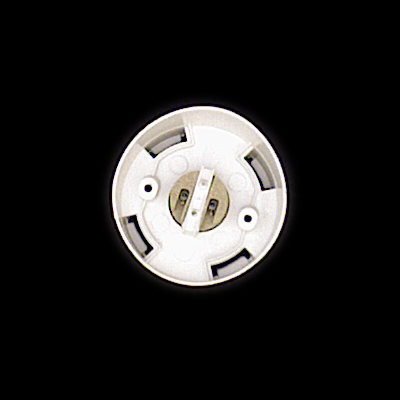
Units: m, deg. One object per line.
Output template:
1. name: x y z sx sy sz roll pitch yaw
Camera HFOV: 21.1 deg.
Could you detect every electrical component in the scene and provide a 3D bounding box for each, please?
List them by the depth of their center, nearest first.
1. electrical component: 0.000 0.000 0.624 0.099 0.099 0.064 0 -8 0
